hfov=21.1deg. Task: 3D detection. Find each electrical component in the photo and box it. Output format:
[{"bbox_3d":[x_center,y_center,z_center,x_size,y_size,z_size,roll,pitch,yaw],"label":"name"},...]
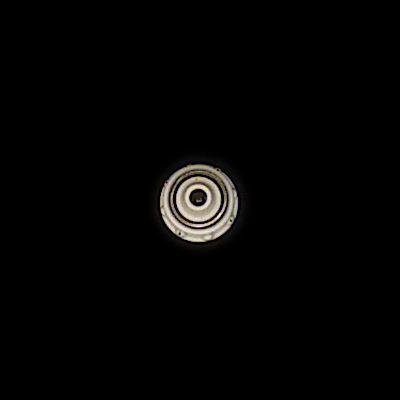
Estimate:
[{"bbox_3d":[0.000,0.000,0.635,0.048,0.048,0.062,0,-4,0],"label":"electrical component"}]
